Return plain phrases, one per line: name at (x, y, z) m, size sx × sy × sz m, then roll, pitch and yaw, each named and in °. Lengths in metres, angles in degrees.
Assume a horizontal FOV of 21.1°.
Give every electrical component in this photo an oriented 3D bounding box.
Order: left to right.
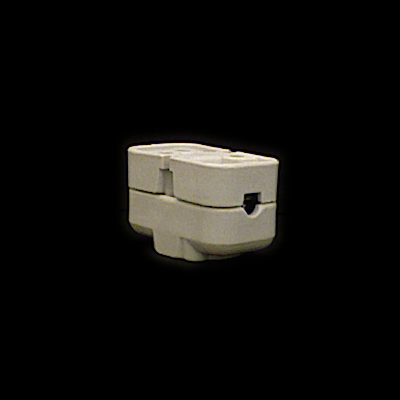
electrical component at (0.000, 0.000, 0.649) m, size 0.054 × 0.060 × 0.094 m, roll -8°, pitch 15°, yaw -39°
